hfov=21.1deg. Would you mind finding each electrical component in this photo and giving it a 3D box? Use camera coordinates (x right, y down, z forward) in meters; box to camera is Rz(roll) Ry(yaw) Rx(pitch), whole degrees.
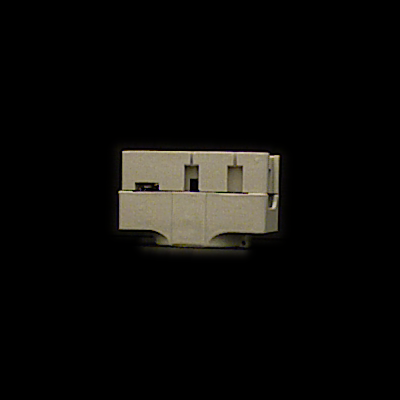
[{"bbox_3d":[0.000,0.000,0.657,0.089,0.056,0.050,2,1,14],"label":"electrical component"}]
